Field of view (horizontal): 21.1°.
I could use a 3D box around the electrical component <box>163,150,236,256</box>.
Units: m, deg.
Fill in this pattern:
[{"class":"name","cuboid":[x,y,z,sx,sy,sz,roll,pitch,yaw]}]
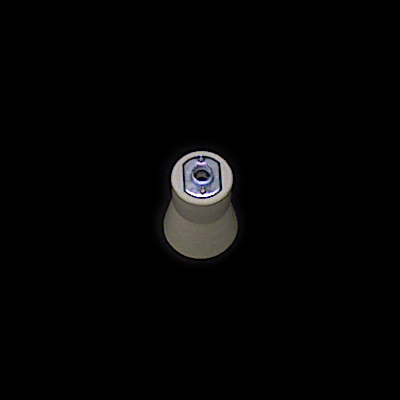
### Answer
[{"class":"electrical component","cuboid":[0.000,0.000,0.624,0.044,0.044,0.065,0,-27,-1]}]
